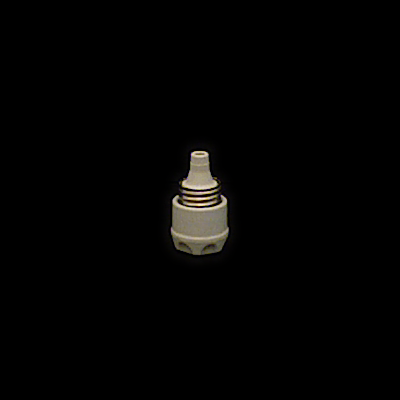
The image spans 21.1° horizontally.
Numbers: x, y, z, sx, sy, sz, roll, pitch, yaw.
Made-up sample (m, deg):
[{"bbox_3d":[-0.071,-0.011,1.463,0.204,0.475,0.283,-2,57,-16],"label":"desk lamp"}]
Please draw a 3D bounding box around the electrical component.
[{"bbox_3d":[0.000,0.000,0.649,0.035,0.062,0.035,0,20,0],"label":"electrical component"}]
